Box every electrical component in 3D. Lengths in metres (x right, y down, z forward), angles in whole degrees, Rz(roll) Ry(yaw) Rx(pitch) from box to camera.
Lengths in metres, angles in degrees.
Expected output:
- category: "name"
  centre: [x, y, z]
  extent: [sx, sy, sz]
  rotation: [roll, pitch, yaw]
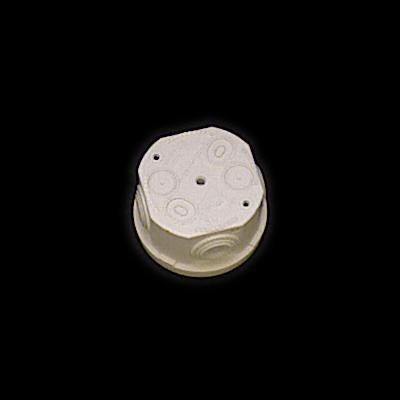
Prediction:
- category: "electrical component"
  centre: [0.000, 0.000, 0.631]
  extent: [0.080, 0.080, 0.050]
  rotation: [0, -27, -1]
